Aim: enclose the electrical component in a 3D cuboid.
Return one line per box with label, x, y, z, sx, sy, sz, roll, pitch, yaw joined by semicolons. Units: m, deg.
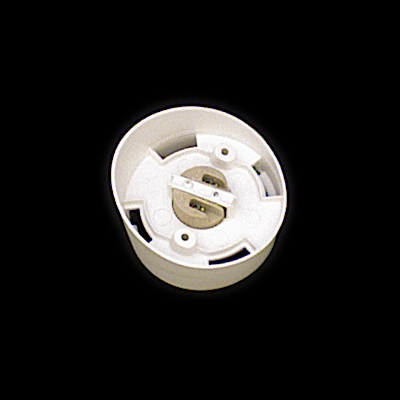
electrical component;0.000;0.000;0.624;0.099;0.099;0.064;0;-27;1
